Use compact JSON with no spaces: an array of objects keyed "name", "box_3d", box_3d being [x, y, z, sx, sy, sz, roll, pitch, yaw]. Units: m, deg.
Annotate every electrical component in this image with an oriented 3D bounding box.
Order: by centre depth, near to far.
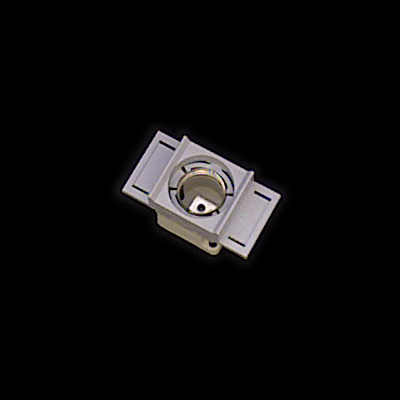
[{"name":"electrical component","box_3d":[0.000,0.000,0.623,0.081,0.042,0.063,29,-16,9]}]
